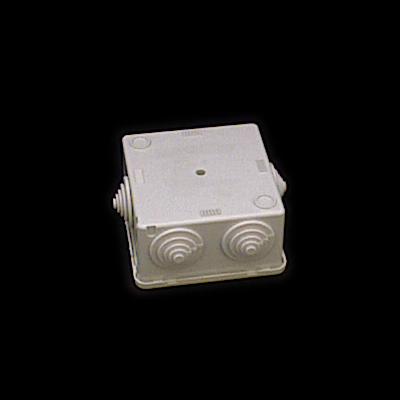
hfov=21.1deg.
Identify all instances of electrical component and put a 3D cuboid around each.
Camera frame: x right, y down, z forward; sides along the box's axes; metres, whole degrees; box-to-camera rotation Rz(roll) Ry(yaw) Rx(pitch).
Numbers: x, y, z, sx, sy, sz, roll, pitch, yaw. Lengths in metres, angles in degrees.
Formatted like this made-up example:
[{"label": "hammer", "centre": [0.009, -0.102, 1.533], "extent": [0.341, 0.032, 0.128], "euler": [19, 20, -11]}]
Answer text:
[{"label": "electrical component", "centre": [0.000, 0.000, 0.633], "extent": [0.100, 0.049, 0.099], "euler": [-6, 43, -7]}]
